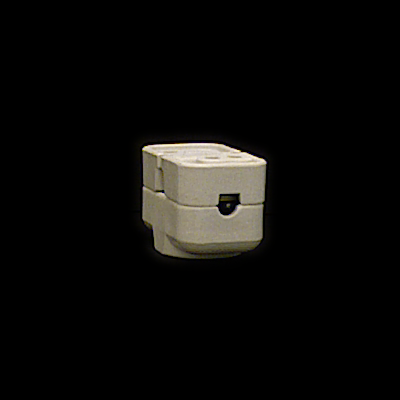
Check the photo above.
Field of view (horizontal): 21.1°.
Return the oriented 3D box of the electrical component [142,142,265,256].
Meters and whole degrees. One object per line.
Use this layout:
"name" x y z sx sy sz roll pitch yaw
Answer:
"electrical component" 0.000 0.000 0.653 0.054 0.060 0.094 -3 11 -20
